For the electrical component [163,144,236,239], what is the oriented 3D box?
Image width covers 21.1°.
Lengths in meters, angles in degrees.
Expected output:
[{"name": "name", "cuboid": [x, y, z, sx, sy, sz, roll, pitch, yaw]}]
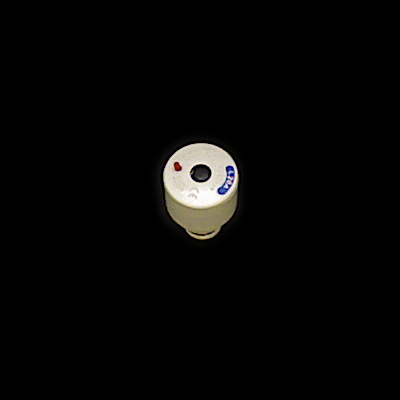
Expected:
[{"name": "electrical component", "cuboid": [0.000, 0.000, 0.618, 0.040, 0.040, 0.078, 0, -27, 1]}]
